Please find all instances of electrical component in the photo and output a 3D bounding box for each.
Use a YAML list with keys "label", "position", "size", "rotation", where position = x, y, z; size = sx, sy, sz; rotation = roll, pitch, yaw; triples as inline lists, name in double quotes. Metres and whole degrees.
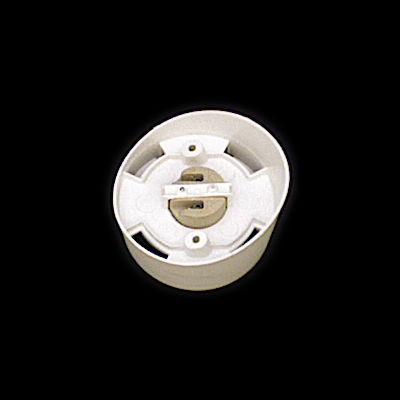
- label: "electrical component"
  position: [0.000, 0.000, 0.625]
  size: [0.099, 0.099, 0.064]
  rotation: [0, -28, -1]
